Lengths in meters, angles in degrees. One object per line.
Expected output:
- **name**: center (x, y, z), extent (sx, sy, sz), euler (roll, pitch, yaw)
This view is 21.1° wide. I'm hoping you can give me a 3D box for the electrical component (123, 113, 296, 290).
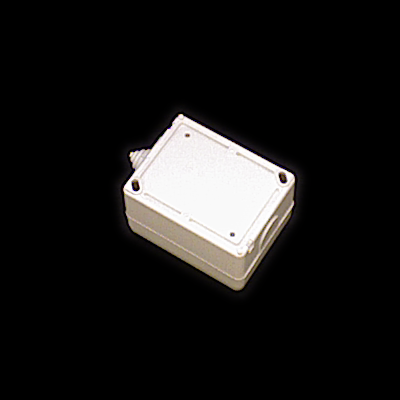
- **electrical component**: center (0.000, 0.000, 0.629), extent (0.096, 0.062, 0.061), euler (29, -24, 15)
